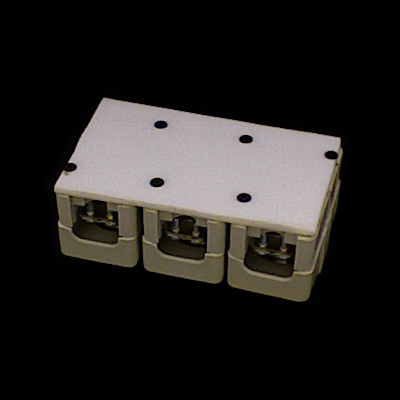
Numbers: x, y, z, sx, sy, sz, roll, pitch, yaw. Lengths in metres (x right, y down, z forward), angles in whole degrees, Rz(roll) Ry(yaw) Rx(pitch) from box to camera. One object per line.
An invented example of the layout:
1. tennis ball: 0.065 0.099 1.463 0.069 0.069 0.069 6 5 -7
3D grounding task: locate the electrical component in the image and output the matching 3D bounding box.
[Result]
1. electrical component: 0.000 0.000 0.638 0.150 0.063 0.088 11 43 11
